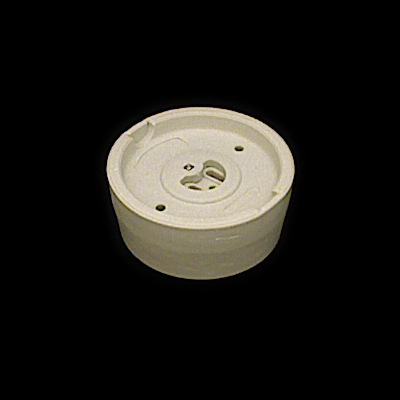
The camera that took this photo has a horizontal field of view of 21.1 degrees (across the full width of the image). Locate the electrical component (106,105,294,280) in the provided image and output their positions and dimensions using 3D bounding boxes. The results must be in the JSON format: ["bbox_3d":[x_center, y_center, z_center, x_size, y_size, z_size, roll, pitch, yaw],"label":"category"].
[{"bbox_3d":[0.000,0.000,0.638,0.108,0.061,0.107,1,43,0],"label":"electrical component"}]
